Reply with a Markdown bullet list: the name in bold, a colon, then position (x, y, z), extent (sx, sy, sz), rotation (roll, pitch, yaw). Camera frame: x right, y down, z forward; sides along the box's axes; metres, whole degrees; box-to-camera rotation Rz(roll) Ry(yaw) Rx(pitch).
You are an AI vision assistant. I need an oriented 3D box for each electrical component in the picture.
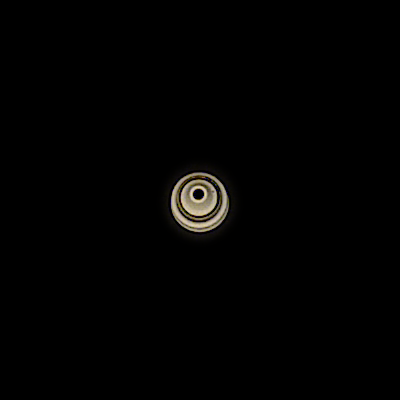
- **electrical component**: position (0.000, 0.000, 0.637), extent (0.035, 0.035, 0.061), rotation (0, -7, 0)
